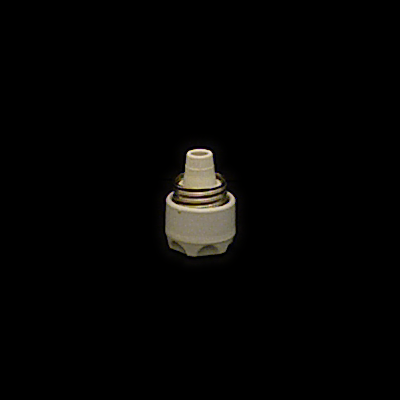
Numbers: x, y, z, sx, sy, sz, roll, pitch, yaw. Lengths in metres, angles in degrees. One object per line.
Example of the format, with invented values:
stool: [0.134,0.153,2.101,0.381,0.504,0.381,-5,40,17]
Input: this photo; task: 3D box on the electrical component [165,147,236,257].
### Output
electrical component: [0.000,0.000,0.646,0.043,0.063,0.043,0,22,1]
